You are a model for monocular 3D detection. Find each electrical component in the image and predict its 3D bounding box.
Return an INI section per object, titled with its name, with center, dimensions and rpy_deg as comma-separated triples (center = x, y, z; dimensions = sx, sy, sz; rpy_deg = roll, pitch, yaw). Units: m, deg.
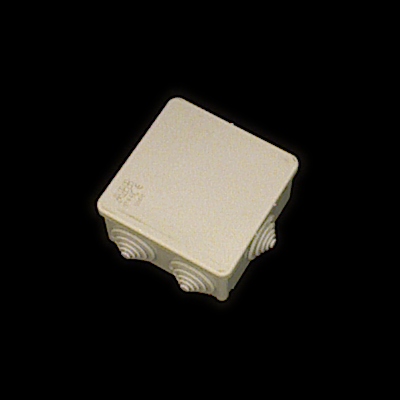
[electrical component]
center = 0.000, 0.000, 0.639
dimensions = 0.099, 0.100, 0.048
rpy_deg = 28, -23, 13
